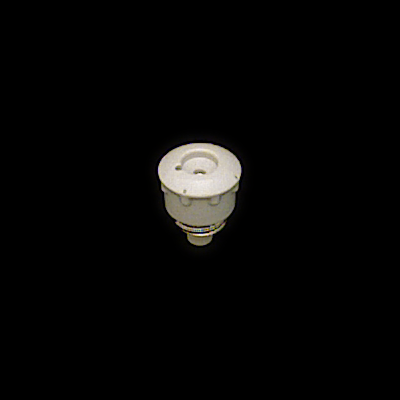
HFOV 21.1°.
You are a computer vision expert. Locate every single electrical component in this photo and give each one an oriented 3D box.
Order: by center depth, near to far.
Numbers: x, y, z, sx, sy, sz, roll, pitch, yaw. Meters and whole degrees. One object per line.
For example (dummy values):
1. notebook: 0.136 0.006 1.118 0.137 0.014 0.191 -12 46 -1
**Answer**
1. electrical component: 0.000 0.000 0.635 0.048 0.062 0.048 0 42 0
